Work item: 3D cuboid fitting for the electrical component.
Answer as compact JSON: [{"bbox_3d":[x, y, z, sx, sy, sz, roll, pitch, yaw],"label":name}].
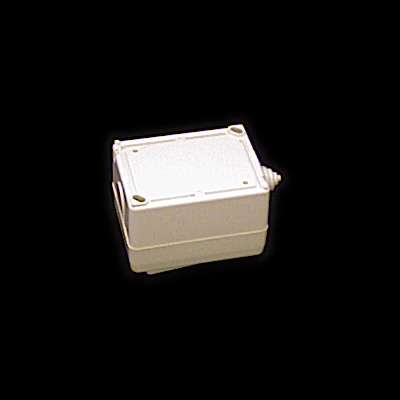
[{"bbox_3d":[0.000,0.000,0.630,0.096,0.061,0.061,-8,43,-11],"label":"electrical component"}]
